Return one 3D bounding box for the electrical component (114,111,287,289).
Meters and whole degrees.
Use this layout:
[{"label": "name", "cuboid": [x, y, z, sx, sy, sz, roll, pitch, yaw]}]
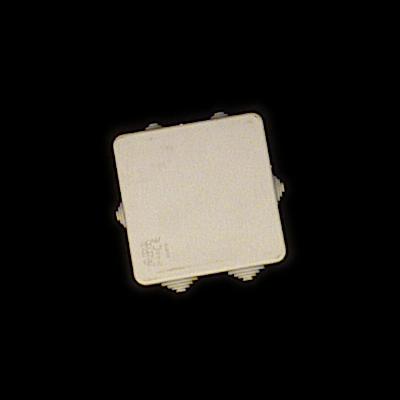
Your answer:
[{"label": "electrical component", "cuboid": [0.000, 0.000, 0.642, 0.100, 0.100, 0.048, -9, -6, -1]}]
